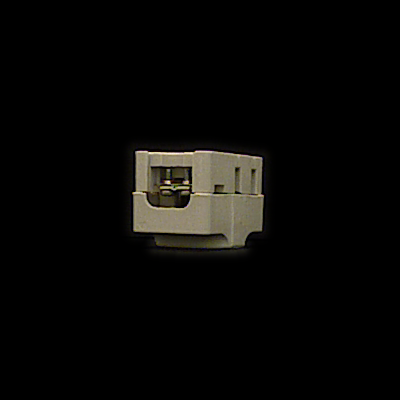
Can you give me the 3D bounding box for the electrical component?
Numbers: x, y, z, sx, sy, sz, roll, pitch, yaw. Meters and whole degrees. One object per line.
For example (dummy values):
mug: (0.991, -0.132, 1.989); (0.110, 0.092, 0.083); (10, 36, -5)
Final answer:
electrical component: (0.000, 0.000, 0.657); (0.050, 0.056, 0.090); (1, 0, 24)
